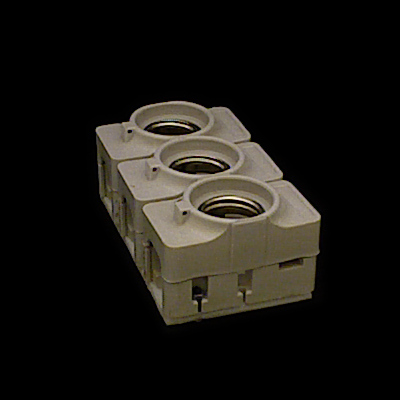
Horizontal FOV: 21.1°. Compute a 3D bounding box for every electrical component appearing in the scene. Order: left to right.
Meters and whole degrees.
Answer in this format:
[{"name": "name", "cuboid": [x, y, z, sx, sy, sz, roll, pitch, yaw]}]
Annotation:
[{"name": "electrical component", "cuboid": [0.000, 0.000, 0.639, 0.089, 0.063, 0.147, -10, 32, -17]}]
